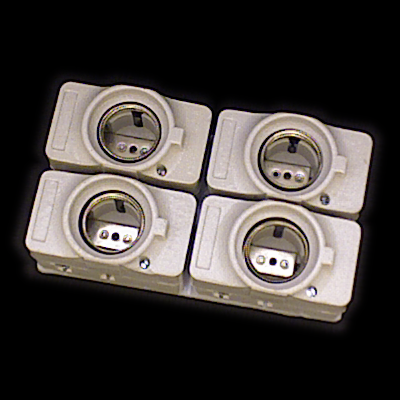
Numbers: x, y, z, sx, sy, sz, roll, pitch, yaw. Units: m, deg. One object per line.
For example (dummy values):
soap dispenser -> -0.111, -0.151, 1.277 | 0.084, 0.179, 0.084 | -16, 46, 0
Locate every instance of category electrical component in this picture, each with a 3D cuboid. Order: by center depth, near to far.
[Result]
electrical component -> 0.000, 0.000, 0.626 | 0.186, 0.106, 0.060 | 10, -17, 3
